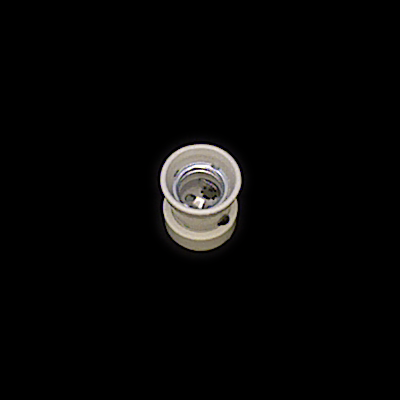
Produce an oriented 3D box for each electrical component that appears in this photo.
[{"bbox_3d":[0.000,0.000,0.629,0.045,0.045,0.055,0,-27,-1],"label":"electrical component"}]
